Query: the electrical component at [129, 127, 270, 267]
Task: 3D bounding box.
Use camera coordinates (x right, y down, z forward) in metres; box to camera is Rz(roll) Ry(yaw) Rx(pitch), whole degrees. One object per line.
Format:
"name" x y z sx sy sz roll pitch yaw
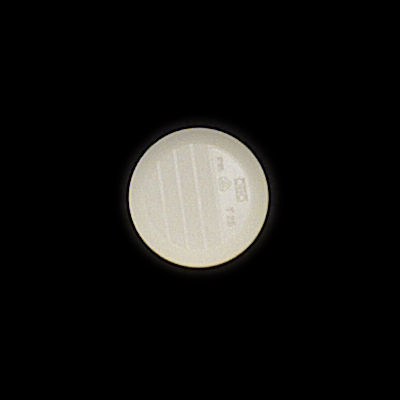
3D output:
"electrical component" 0.000 0.000 0.631 0.080 0.080 0.050 0 -7 0
